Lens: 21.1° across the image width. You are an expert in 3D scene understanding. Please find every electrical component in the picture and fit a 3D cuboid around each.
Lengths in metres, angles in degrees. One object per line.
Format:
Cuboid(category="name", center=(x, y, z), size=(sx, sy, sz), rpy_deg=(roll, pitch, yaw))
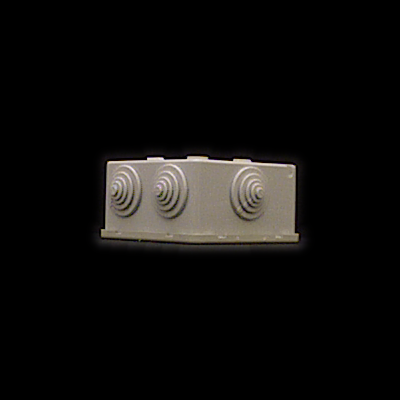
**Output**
Cuboid(category="electrical component", center=(0.000, 0.000, 0.649), size=(0.100, 0.048, 0.099), rpy_deg=(1, 0, -43))
